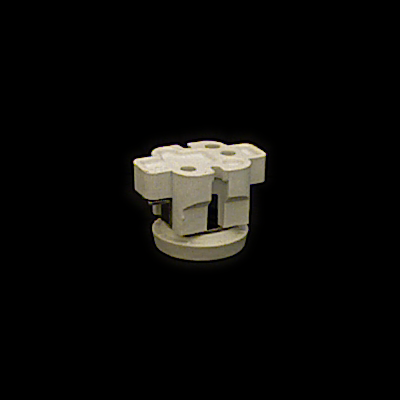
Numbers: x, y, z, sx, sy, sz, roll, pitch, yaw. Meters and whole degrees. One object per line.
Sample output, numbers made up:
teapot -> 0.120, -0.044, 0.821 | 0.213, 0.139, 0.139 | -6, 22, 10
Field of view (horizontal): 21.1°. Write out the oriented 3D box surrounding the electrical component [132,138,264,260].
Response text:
electrical component -> 0.000, 0.000, 0.644 | 0.079, 0.057, 0.057 | -11, 26, -25
